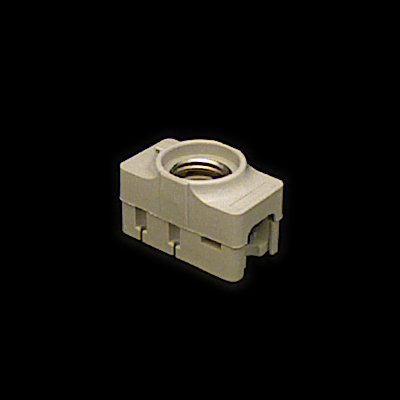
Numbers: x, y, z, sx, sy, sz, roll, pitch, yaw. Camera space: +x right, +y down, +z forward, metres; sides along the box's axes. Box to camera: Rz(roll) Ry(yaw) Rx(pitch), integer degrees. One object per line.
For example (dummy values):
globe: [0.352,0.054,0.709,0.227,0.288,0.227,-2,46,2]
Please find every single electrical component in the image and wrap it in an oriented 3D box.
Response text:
electrical component: [0.000,0.000,0.643,0.088,0.056,0.050,23,38,30]
